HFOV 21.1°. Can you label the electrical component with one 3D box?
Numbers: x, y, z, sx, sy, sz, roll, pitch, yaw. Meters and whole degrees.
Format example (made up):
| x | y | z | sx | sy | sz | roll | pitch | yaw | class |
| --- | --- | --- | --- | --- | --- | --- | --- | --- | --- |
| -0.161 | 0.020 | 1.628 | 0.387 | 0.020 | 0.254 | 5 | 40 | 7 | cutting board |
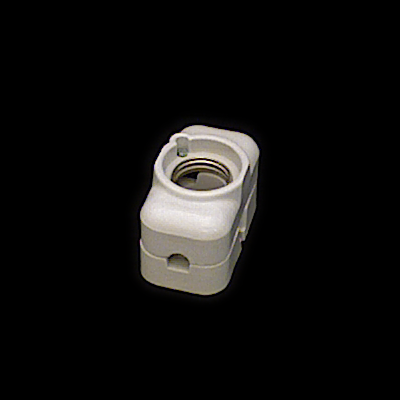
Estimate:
| x | y | z | sx | sy | sz | roll | pitch | yaw | class |
| --- | --- | --- | --- | --- | --- | --- | --- | --- | --- |
| 0.000 | 0.000 | 0.638 | 0.053 | 0.060 | 0.094 | 11 | 43 | 11 | electrical component |
